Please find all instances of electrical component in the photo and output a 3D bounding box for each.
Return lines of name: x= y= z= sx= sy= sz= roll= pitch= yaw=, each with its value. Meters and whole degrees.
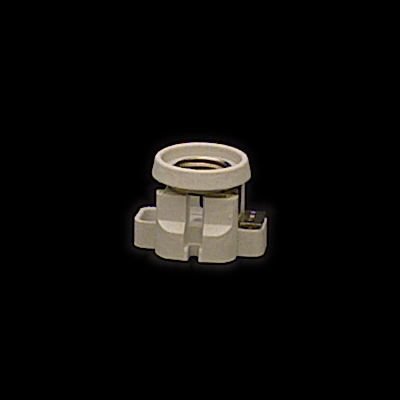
electrical component: x=0.000 y=0.000 z=0.640 sx=0.078 sy=0.057 sz=0.057 roll=5 pitch=21 yaw=9
